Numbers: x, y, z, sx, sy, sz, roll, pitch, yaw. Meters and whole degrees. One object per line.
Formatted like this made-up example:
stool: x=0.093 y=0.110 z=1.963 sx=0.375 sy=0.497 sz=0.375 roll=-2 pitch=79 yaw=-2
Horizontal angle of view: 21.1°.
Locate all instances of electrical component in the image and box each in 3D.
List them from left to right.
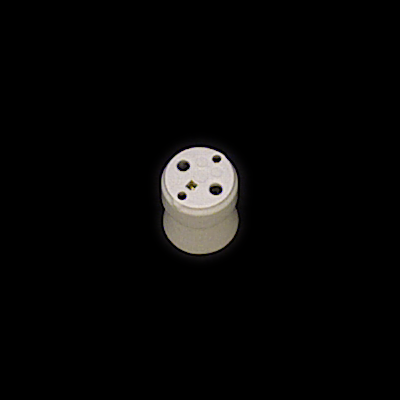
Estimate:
electrical component: x=0.000 y=0.000 z=0.629 sx=0.045 sy=0.045 sz=0.055 roll=0 pitch=-27 yaw=0
